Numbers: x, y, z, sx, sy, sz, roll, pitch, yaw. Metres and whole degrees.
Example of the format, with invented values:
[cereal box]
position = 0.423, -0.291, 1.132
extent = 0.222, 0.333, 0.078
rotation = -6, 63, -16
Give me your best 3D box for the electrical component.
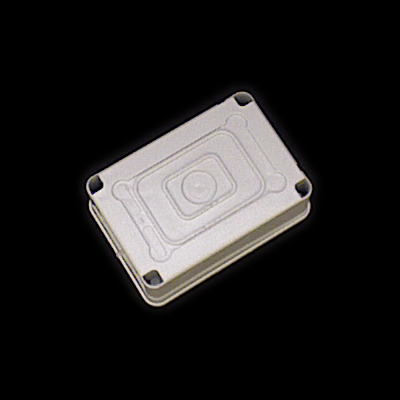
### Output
[electrical component]
position = 0.000, 0.000, 0.627
extent = 0.113, 0.078, 0.057
rotation = -31, -14, -9
